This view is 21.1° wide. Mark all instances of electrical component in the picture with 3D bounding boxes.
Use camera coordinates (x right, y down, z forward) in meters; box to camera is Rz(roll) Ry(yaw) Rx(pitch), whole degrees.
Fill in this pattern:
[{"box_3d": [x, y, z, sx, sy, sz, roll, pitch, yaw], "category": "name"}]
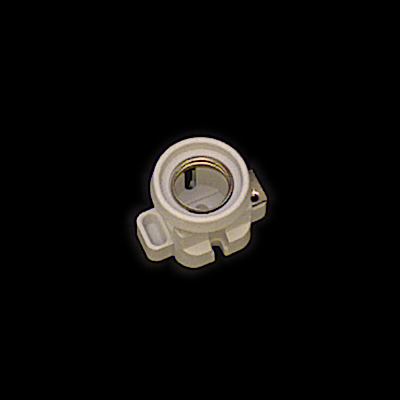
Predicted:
[{"box_3d": [0.000, 0.000, 0.629, 0.079, 0.057, 0.057, -22, -25, -11], "category": "electrical component"}]
